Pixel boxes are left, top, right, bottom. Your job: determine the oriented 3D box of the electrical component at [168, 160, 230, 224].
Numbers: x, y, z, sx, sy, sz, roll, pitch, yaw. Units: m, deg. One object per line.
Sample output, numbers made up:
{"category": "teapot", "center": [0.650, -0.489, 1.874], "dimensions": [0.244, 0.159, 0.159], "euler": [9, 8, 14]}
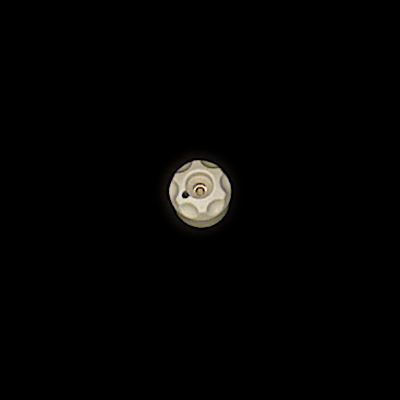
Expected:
{"category": "electrical component", "center": [0.000, 0.000, 0.633], "dimensions": [0.035, 0.035, 0.061], "euler": [0, -16, 1]}
